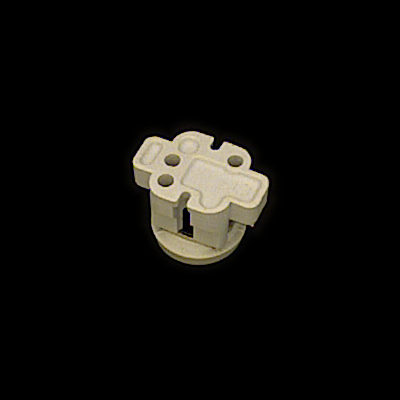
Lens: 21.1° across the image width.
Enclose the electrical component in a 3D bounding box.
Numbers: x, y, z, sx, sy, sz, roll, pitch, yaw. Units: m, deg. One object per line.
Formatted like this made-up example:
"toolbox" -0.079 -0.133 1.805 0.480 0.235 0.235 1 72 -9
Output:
"electrical component" 0.000 0.000 0.637 0.078 0.058 0.057 20 -35 12
